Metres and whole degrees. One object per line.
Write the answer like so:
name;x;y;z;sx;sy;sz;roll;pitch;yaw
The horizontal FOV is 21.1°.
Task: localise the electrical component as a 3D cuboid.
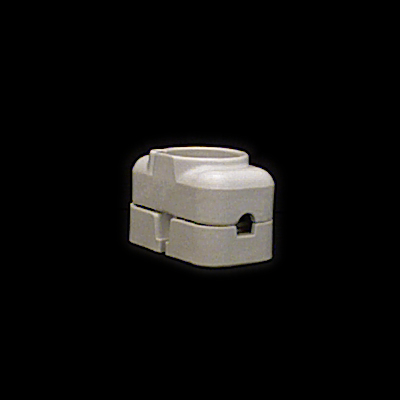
electrical component;0.000;0.000;0.650;0.054;0.060;0.093;-7;13;-35
